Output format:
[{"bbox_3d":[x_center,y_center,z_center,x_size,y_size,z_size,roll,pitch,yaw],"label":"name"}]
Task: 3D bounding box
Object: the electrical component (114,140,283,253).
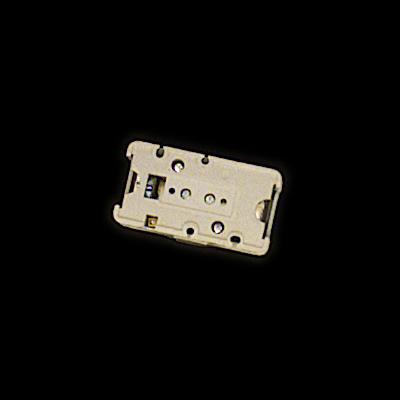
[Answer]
[{"bbox_3d":[0.000,0.000,0.637,0.089,0.050,0.055,12,-5,2],"label":"electrical component"}]
